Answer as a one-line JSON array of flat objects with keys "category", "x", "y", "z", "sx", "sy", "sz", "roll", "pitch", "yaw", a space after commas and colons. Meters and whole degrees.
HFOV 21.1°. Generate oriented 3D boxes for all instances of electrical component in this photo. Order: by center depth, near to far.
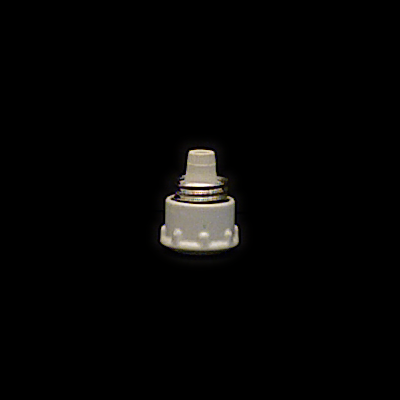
[{"category": "electrical component", "x": 0.000, "y": 0.000, "z": 0.650, "sx": 0.048, "sy": 0.062, "sz": 0.047, "roll": 1, "pitch": 13, "yaw": 0}]
